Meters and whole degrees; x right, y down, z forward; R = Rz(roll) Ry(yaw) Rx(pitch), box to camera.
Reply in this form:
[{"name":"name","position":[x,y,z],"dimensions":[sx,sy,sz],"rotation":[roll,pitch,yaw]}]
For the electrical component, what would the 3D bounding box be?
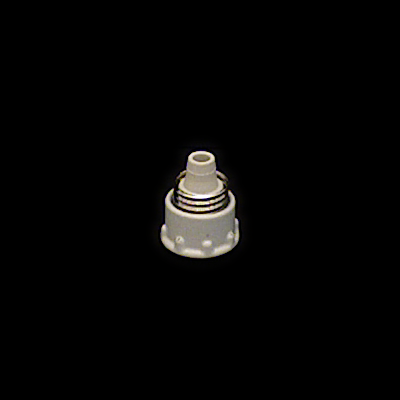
[{"name":"electrical component","position":[0.000,0.000,0.640],"dimensions":[0.048,0.063,0.047],"rotation":[1,33,0]}]
